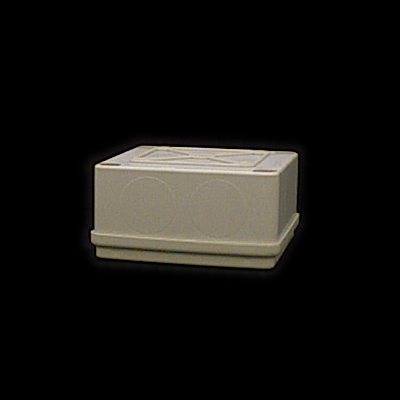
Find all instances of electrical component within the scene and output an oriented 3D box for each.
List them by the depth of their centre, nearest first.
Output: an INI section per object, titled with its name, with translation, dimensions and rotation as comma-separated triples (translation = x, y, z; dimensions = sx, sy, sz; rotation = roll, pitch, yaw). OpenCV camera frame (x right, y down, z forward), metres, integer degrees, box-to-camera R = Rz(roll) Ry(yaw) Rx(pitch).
[electrical component]
translation = 0.000, 0.000, 0.645
dimensions = 0.108, 0.056, 0.108
rotation = 3, 10, 11
